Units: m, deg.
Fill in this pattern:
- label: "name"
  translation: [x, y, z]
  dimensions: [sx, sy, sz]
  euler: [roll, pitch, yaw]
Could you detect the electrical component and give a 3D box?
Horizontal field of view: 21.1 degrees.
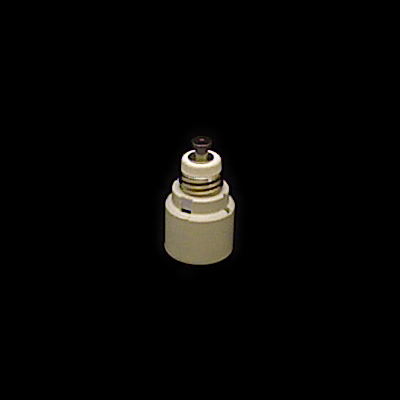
- label: "electrical component"
  translation: [0.000, 0.000, 0.630]
  dimensions: [0.040, 0.079, 0.039]
  euler: [2, 31, -1]
